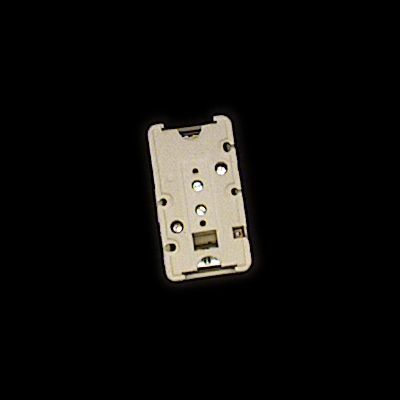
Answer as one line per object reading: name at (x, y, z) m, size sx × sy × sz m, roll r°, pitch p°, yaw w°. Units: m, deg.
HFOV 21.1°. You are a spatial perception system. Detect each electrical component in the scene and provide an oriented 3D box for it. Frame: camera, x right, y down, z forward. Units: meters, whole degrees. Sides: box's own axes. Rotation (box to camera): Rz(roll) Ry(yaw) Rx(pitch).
electrical component at (0.000, 0.000, 0.637) m, size 0.050 × 0.090 × 0.055 m, roll -8°, pitch -6°, yaw -1°
